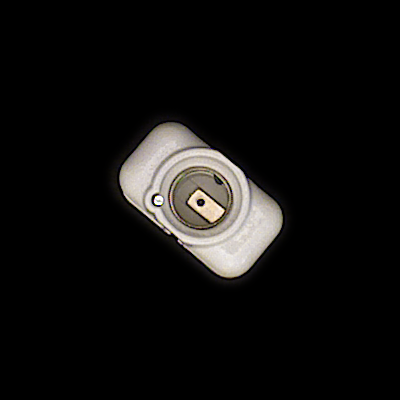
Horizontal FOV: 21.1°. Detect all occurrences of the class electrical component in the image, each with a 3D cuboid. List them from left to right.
[{"bbox_3d":[0.000,0.000,0.635,0.095,0.054,0.059,39,-4,4],"label":"electrical component"}]
